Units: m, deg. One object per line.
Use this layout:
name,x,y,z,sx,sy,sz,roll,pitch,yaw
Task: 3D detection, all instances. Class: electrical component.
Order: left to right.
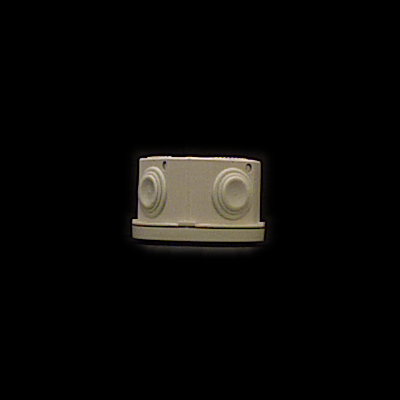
electrical component,0.000,0.000,0.648,0.080,0.051,0.080,1,1,0
